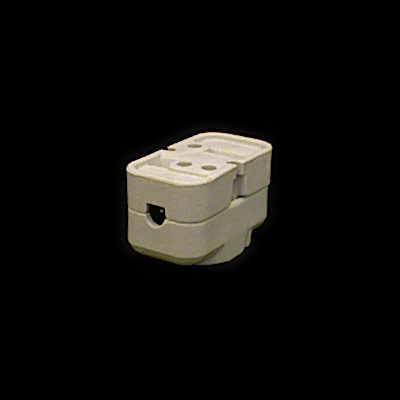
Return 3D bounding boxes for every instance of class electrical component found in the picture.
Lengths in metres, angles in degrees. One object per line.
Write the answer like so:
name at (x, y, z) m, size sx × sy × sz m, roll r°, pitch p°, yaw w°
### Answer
electrical component at (0.000, 0.000, 0.646) m, size 0.053 × 0.060 × 0.095 m, roll 14°, pitch 25°, yaw 30°
